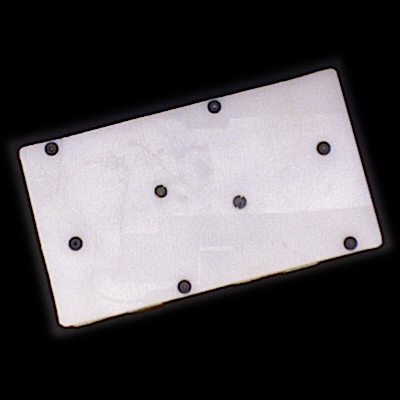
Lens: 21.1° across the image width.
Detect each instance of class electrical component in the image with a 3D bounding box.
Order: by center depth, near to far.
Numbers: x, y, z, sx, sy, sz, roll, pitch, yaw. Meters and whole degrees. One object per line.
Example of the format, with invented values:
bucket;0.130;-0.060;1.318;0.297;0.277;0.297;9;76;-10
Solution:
electrical component;0.000;0.000;0.626;0.186;0.106;0.060;-14;-6;-2
